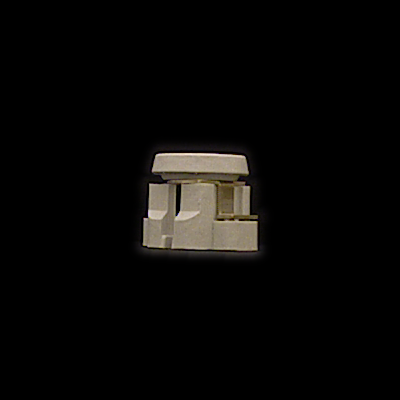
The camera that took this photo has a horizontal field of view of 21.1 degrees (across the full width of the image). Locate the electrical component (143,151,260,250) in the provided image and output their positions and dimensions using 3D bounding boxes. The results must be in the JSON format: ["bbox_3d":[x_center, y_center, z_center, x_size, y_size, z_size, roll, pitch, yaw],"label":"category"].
[{"bbox_3d":[0.000,0.000,0.649,0.078,0.057,0.058,2,1,45],"label":"electrical component"}]
